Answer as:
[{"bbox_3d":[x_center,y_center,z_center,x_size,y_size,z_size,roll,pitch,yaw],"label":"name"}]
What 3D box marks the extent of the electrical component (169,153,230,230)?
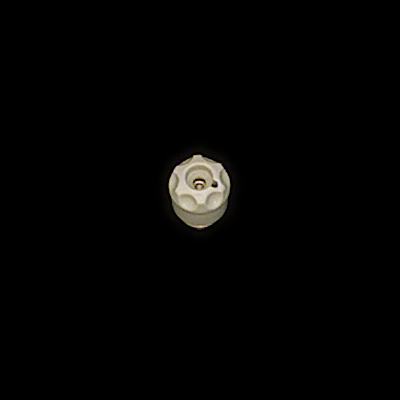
[{"bbox_3d":[0.000,0.000,0.633,0.035,0.035,0.061,0,-26,0],"label":"electrical component"}]
